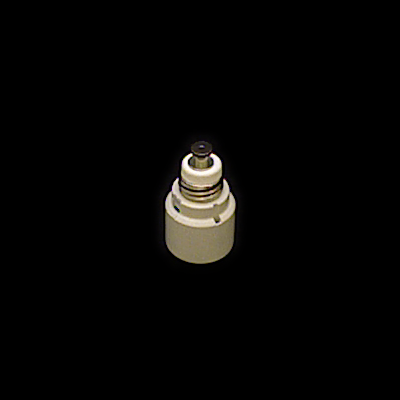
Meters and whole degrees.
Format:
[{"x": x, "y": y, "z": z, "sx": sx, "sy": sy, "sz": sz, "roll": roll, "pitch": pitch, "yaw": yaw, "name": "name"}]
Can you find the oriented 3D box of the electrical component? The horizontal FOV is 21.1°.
[{"x": 0.000, "y": 0.000, "z": 0.625, "sx": 0.040, "sy": 0.079, "sz": 0.039, "roll": 1, "pitch": 42, "yaw": -1, "name": "electrical component"}]
